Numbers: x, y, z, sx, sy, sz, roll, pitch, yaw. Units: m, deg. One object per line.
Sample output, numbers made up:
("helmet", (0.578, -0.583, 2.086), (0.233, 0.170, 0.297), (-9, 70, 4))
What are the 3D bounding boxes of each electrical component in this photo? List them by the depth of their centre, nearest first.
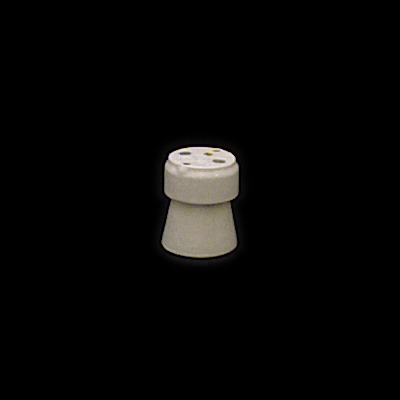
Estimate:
("electrical component", (0.000, 0.000, 0.639), (0.045, 0.056, 0.044), (1, 22, 0))
